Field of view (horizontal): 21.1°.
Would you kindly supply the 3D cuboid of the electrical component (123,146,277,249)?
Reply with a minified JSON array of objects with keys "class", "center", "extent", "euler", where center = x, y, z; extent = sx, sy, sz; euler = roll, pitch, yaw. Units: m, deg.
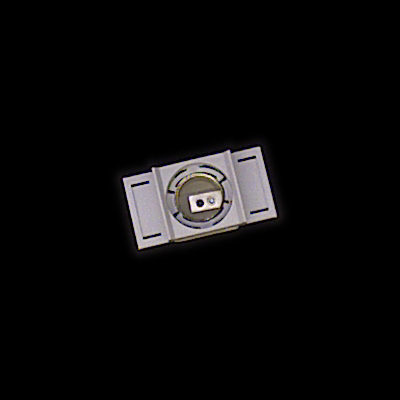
[{"class":"electrical component","center":[0.000,0.000,0.625],"extent":[0.081,0.042,0.063],"euler":[-13,-7,-1]}]
